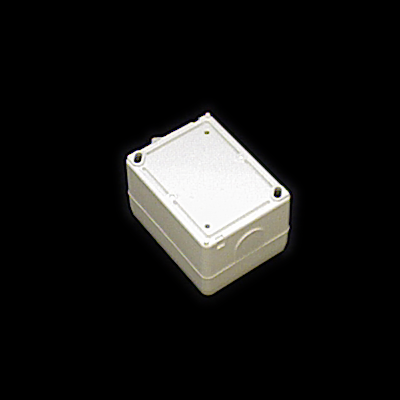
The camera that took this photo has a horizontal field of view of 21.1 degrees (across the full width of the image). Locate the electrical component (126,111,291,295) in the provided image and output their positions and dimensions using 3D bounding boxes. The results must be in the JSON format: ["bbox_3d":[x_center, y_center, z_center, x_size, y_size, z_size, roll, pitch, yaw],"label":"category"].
[{"bbox_3d":[0.000,0.000,0.631,0.062,0.095,0.061,-31,-32,-21],"label":"electrical component"}]
